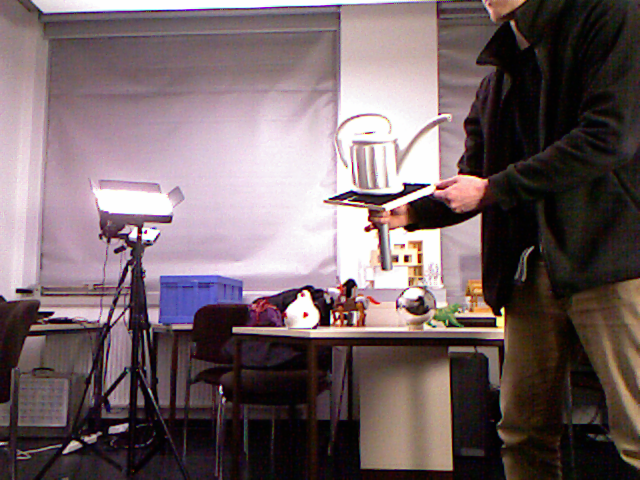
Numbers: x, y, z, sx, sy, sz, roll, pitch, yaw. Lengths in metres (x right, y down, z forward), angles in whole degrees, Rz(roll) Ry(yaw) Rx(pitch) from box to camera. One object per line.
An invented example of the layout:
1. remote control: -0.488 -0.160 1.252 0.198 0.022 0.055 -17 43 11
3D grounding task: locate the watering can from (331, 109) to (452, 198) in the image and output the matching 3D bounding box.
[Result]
1. watering can: 0.162 -0.200 1.230 0.349 0.221 0.105 11 29 44
